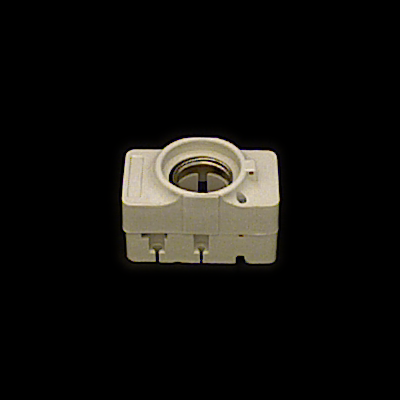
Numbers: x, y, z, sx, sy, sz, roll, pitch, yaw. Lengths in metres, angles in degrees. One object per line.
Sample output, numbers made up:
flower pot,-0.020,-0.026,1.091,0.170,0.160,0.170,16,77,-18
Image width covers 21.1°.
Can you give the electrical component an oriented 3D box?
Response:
electrical component,0.000,0.000,0.639,0.089,0.056,0.050,0,43,-1
